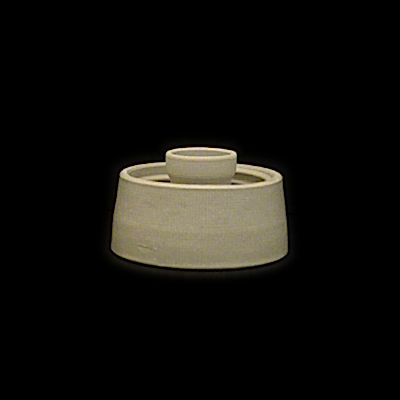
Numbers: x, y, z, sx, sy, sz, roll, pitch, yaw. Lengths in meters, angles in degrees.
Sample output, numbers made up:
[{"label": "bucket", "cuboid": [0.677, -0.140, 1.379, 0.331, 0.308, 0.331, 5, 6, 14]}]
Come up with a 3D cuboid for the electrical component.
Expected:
[{"label": "electrical component", "cuboid": [0.000, 0.000, 0.652, 0.108, 0.061, 0.107, 1, 11, 0]}]
